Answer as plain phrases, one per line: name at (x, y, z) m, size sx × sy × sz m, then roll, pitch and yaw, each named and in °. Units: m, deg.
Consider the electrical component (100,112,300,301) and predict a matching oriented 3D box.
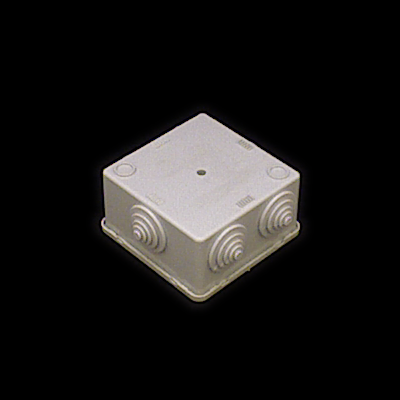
electrical component at (0.000, 0.000, 0.635) m, size 0.099 × 0.049 × 0.099 m, roll -33°, pitch 52°, yaw -31°
